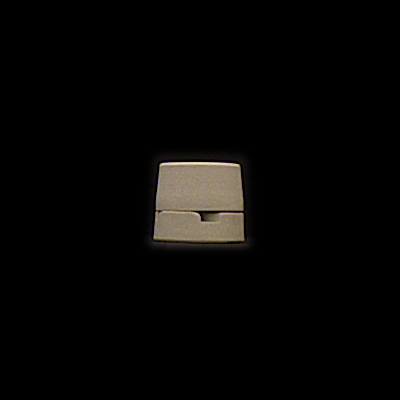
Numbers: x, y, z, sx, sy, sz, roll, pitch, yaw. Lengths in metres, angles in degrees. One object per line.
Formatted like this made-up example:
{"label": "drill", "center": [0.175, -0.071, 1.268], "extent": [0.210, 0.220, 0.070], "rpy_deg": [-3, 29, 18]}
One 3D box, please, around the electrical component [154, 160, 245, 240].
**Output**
{"label": "electrical component", "center": [0.000, 0.000, 0.651], "extent": [0.055, 0.047, 0.055], "rpy_deg": [1, 0, 0]}
